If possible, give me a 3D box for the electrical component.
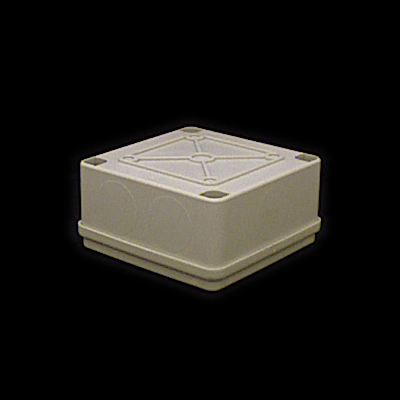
[{"bbox_3d":[0.000,0.000,0.641,0.107,0.057,0.108,17,25,36],"label":"electrical component"}]
